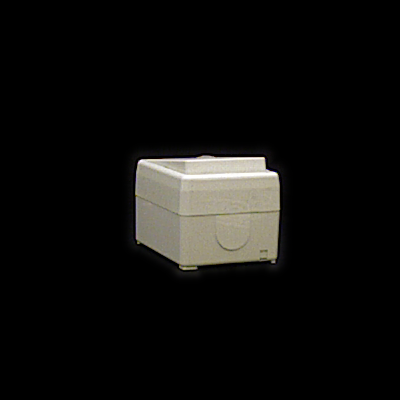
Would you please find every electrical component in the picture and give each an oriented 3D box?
[{"bbox_3d":[0.000,0.000,0.646,0.062,0.061,0.095,-3,11,-23],"label":"electrical component"}]
